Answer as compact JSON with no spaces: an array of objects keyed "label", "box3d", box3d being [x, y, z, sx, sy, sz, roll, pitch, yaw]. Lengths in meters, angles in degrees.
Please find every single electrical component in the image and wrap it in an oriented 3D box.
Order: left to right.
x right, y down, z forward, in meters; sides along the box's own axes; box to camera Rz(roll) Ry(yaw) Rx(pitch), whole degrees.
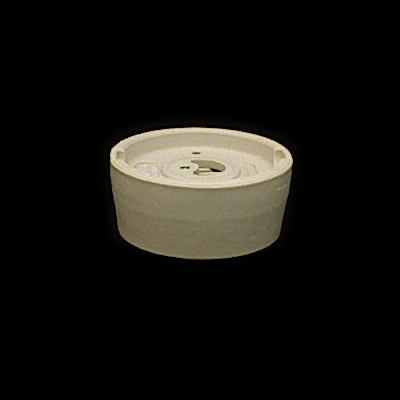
[{"label":"electrical component","box3d":[0.000,0.000,0.643,0.108,0.061,0.106,2,21,0]}]
